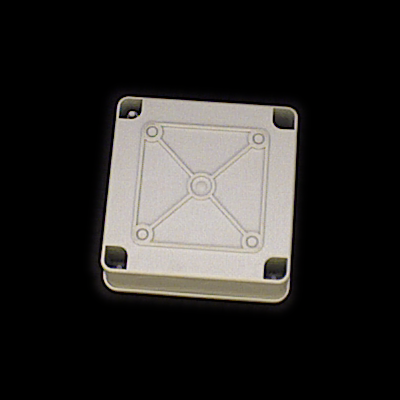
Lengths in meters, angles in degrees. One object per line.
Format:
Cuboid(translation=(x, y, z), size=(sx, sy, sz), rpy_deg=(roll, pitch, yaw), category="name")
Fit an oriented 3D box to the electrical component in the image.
Cuboid(translation=(0.000, 0.000, 0.628), size=(0.109, 0.109, 0.056), rpy_deg=(4, -18, 2), category="electrical component")
